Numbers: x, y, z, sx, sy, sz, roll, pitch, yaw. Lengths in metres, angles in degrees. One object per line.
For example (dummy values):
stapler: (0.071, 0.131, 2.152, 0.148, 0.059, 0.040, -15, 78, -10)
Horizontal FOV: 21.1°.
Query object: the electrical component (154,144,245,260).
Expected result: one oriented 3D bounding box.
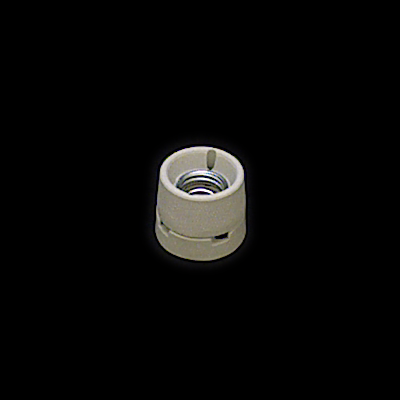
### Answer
electrical component: (0.000, 0.000, 0.637, 0.055, 0.047, 0.055, 1, 41, -1)
